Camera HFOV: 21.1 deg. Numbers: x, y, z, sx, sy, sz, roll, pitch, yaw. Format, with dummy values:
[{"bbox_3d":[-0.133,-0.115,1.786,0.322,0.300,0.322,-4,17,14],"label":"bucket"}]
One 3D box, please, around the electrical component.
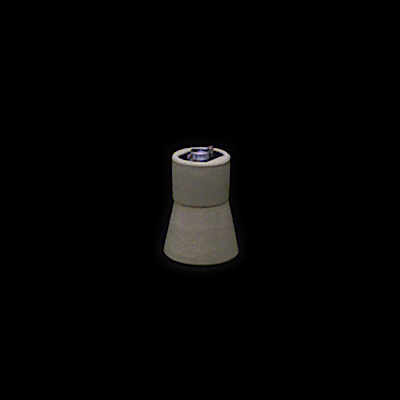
[{"bbox_3d":[0.000,0.000,0.639,0.044,0.066,0.044,0,21,0],"label":"electrical component"}]
